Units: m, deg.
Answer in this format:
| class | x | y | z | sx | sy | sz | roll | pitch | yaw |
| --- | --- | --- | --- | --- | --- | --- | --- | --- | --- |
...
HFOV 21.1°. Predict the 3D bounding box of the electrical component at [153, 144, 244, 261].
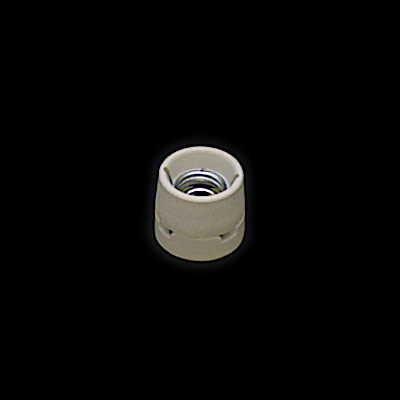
| class | x | y | z | sx | sy | sz | roll | pitch | yaw |
| --- | --- | --- | --- | --- | --- | --- | --- | --- | --- |
| electrical component | 0.000 | 0.000 | 0.636 | 0.055 | 0.047 | 0.055 | 1 | 43 | -1 |
